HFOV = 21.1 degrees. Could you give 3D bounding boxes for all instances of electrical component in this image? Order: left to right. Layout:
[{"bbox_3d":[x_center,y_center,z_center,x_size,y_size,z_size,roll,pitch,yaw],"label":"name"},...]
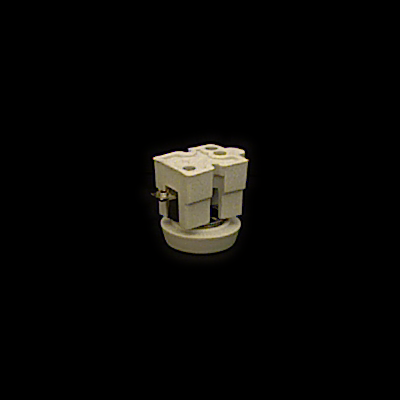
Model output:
[{"bbox_3d":[0.000,0.000,0.648,0.067,0.056,0.047,-15,28,-33],"label":"electrical component"}]
